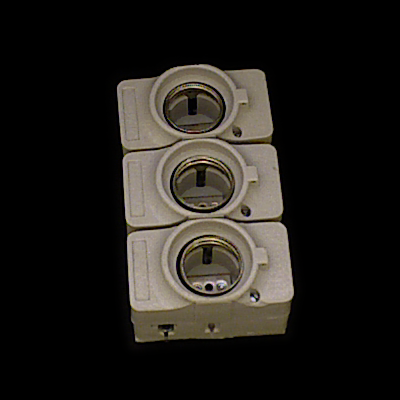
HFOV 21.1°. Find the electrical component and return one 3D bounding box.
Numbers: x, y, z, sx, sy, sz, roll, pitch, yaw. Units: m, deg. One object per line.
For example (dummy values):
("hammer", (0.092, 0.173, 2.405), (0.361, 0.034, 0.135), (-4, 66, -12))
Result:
("electrical component", (0.000, 0.000, 0.631), (0.089, 0.149, 0.062), (-4, -26, -3))
